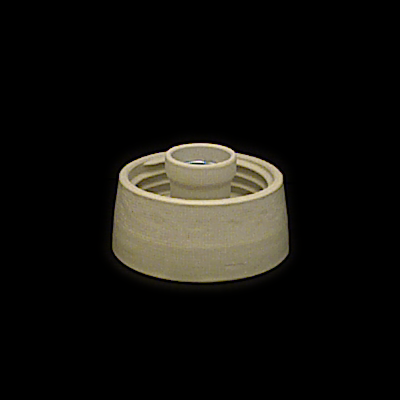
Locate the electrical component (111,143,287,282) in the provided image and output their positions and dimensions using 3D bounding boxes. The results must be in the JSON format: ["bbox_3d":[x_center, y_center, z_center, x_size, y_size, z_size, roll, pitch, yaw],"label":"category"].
[{"bbox_3d":[0.000,0.000,0.647,0.108,0.061,0.106,1,21,0],"label":"electrical component"}]
